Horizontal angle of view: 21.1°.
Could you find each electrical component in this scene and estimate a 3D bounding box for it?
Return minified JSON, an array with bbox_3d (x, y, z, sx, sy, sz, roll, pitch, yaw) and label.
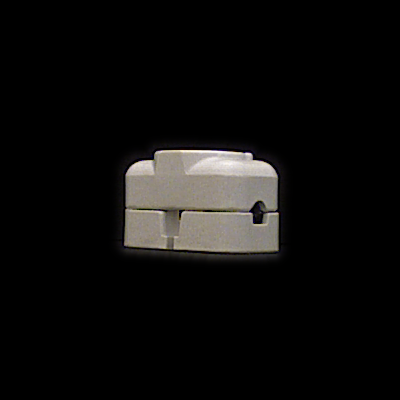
[{"bbox_3d":[0.000,0.000,0.658,0.094,0.059,0.054,2,2,41],"label":"electrical component"}]
